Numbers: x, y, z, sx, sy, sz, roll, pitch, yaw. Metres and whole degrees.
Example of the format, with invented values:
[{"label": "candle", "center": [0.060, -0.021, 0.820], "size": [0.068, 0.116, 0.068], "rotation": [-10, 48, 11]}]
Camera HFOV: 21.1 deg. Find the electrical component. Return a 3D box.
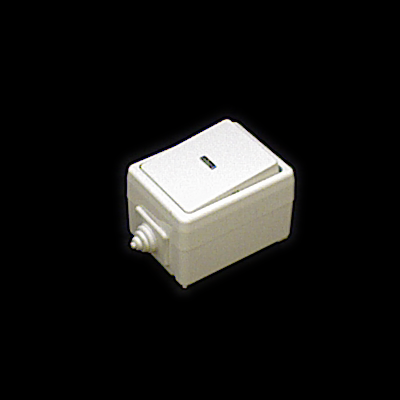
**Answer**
[{"label": "electrical component", "center": [0.000, 0.000, 0.629], "size": [0.096, 0.061, 0.061], "rotation": [-25, 48, -26]}]
